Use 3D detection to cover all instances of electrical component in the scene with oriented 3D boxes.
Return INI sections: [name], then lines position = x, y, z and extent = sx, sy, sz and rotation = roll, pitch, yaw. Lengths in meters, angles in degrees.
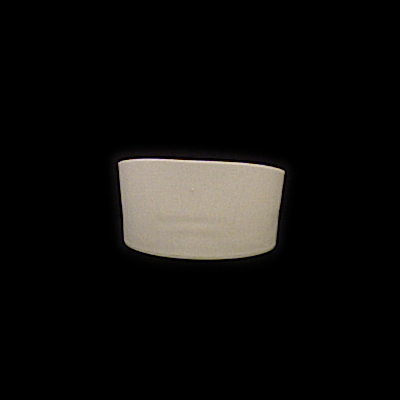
[electrical component]
position = 0.000, 0.000, 0.642
extent = 0.099, 0.064, 0.098
rotation = 2, 11, 0
